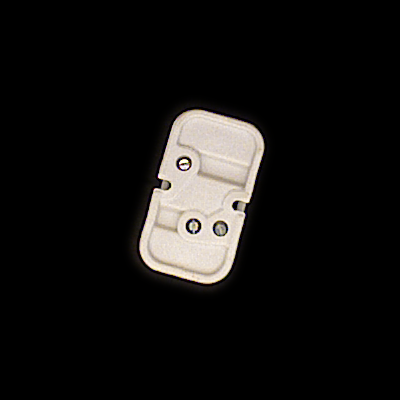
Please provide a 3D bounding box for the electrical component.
[{"bbox_3d":[0.000,0.000,0.637,0.054,0.095,0.059,15,-6,2],"label":"electrical component"}]
